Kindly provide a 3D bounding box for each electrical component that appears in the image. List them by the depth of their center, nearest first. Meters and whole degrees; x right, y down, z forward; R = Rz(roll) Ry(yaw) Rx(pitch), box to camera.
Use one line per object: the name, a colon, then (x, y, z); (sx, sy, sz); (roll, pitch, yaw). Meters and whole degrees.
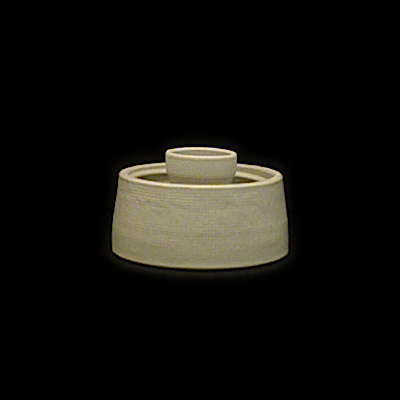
electrical component: (0.000, 0.000, 0.649); (0.108, 0.061, 0.107); (1, 11, 0)
